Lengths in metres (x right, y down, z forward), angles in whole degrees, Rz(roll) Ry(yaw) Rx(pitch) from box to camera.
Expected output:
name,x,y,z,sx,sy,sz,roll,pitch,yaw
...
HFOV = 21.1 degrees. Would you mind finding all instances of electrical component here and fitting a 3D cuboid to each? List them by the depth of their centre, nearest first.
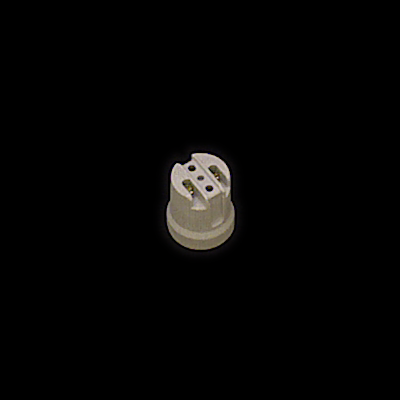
name,x,y,z,sx,sy,sz,roll,pitch,yaw
electrical component,0.000,0.000,0.633,0.040,0.040,0.046,0,-37,0
